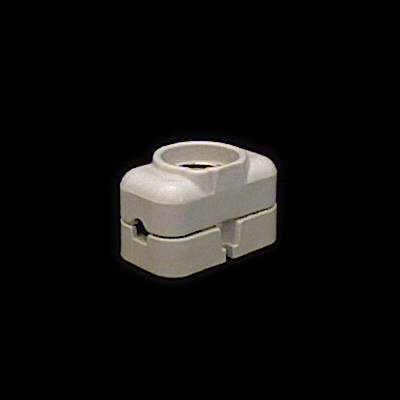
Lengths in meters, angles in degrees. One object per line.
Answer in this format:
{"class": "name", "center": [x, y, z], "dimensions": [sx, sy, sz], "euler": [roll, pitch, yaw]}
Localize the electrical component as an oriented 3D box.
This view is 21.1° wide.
{"class": "electrical component", "center": [0.000, 0.000, 0.644], "dimensions": [0.095, 0.060, 0.053], "euler": [-18, 28, -39]}
